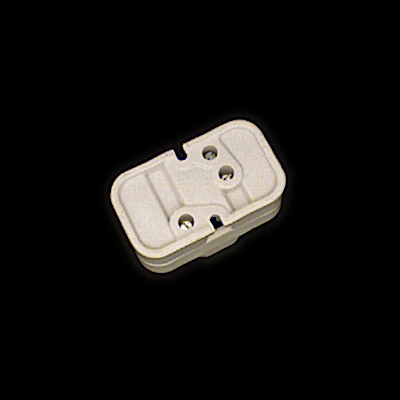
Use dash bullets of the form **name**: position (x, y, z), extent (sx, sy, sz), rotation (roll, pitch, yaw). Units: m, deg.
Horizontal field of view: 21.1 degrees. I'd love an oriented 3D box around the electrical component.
- **electrical component**: position (0.000, 0.000, 0.636), extent (0.095, 0.053, 0.059), rotation (-27, -14, -7)
